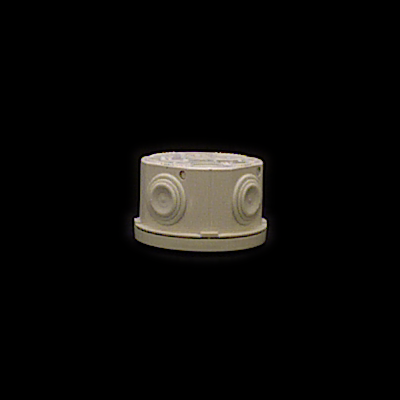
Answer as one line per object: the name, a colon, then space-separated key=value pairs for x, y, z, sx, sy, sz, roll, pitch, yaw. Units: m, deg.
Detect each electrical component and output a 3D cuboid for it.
electrical component: x=0.000 y=0.000 z=0.646 sx=0.080 sy=0.051 sz=0.079 roll=2 pitch=10 yaw=0
